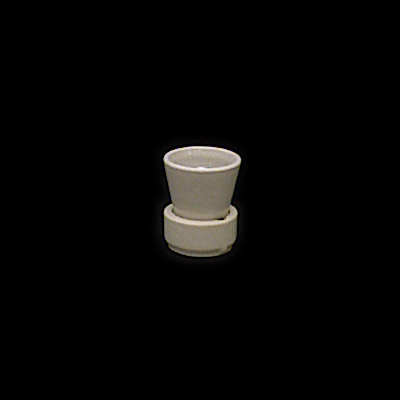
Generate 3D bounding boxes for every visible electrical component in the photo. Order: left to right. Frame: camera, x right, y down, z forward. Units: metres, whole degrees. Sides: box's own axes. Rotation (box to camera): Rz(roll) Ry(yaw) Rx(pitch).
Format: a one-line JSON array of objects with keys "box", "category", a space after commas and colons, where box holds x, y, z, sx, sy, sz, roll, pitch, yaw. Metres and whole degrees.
[{"box": [0.000, 0.000, 0.641, 0.045, 0.056, 0.044, 2, 21, 0], "category": "electrical component"}]
